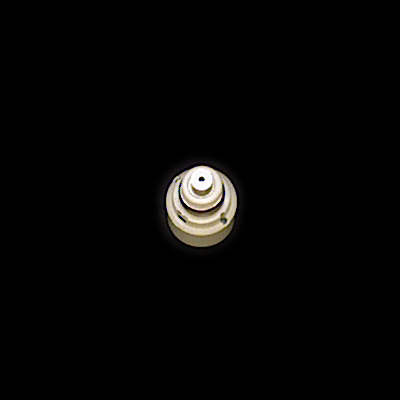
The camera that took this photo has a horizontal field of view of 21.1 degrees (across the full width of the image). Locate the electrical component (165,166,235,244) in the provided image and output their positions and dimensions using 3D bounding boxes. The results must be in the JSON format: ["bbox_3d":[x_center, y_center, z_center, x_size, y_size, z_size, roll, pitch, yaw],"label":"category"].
[{"bbox_3d":[0.000,0.000,0.618,0.040,0.040,0.078,0,-16,-1],"label":"electrical component"}]
